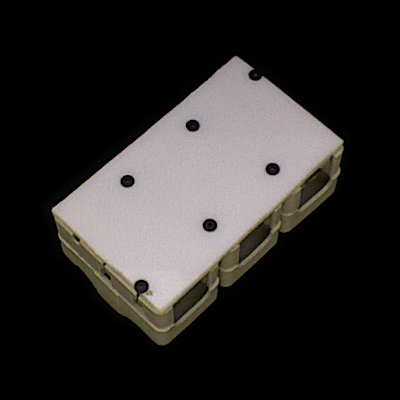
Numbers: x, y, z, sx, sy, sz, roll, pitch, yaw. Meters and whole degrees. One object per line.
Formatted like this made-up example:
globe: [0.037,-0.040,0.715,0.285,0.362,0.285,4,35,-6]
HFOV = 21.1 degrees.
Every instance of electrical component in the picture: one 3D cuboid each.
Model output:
electrical component: [0.000,0.000,0.633,0.150,0.089,0.062,-41,-20,-19]
